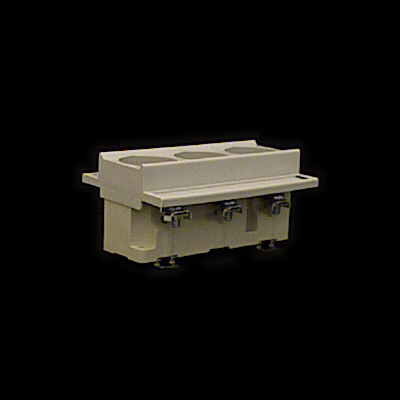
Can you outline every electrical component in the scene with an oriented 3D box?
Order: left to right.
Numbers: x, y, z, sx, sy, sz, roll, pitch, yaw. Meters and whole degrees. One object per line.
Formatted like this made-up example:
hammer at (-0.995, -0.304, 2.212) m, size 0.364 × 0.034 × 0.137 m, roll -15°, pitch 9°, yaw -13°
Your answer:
electrical component at (0.000, 0.000, 0.657) m, size 0.121 × 0.063 × 0.078 m, roll -7°, pitch 15°, yaw -38°
